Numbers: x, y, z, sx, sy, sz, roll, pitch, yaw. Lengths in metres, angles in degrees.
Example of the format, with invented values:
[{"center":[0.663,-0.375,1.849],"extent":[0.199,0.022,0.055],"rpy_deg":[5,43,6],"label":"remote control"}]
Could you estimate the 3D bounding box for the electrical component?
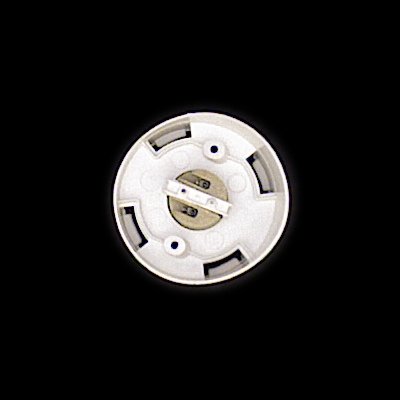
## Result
[{"center":[0.000,0.000,0.625],"extent":[0.099,0.099,0.064],"rpy_deg":[0,-7,-1],"label":"electrical component"}]
